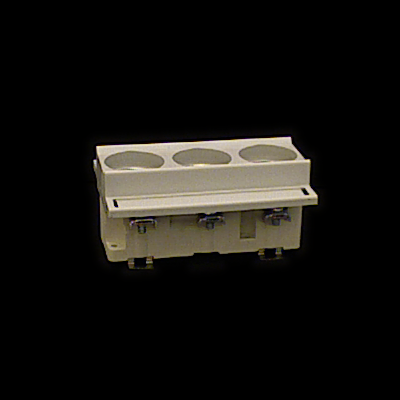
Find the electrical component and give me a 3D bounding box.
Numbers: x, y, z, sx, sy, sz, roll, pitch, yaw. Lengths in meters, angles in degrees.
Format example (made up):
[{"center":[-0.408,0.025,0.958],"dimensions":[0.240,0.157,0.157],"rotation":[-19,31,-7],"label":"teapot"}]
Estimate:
[{"center":[0.000,0.000,0.650],"dimensions":[0.121,0.064,0.077],"rotation":[-3,23,-11],"label":"electrical component"}]
